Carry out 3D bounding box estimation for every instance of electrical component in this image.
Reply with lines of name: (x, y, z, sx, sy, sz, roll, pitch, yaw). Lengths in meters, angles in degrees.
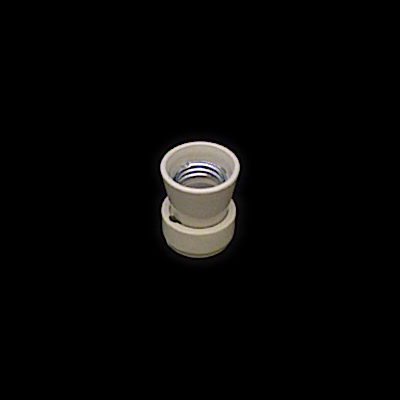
electrical component: (0.000, 0.000, 0.632, 0.045, 0.055, 0.044, 1, 43, 0)
